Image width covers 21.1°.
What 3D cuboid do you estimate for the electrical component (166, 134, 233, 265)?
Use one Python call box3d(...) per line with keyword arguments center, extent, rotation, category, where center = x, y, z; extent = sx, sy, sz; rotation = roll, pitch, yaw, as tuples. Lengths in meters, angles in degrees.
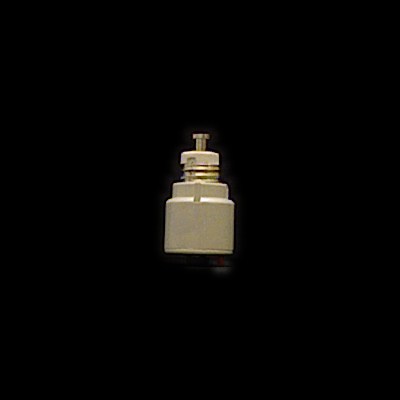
box3d(center=(0.000, 0.000, 0.647), extent=(0.040, 0.078, 0.040), rotation=(1, 0, 0), category="electrical component")
